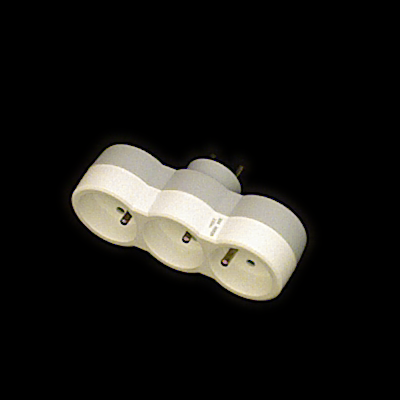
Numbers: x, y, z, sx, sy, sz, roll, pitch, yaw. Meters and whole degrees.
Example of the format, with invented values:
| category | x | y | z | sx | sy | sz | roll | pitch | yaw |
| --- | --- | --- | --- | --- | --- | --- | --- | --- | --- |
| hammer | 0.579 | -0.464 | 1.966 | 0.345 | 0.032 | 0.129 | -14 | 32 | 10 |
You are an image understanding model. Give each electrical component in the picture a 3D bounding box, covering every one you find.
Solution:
| category | x | y | z | sx | sy | sz | roll | pitch | yaw |
| --- | --- | --- | --- | --- | --- | --- | --- | --- | --- |
| electrical component | 0.000 | 0.000 | 0.640 | 0.137 | 0.074 | 0.052 | 22 | -36 | 15 |
